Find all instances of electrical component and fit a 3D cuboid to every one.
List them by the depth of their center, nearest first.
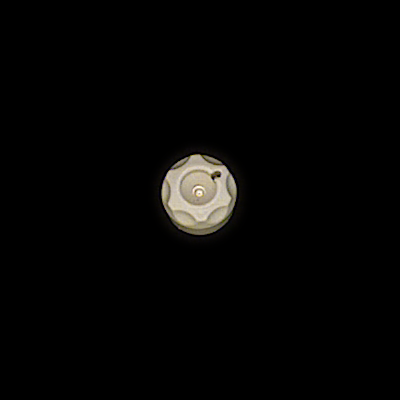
[{"bbox_3d":[0.000,0.000,0.634,0.043,0.043,0.061,0,-15,1],"label":"electrical component"}]
